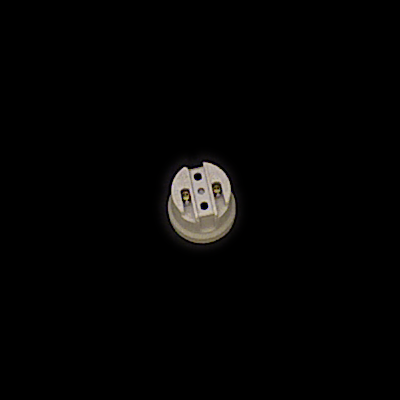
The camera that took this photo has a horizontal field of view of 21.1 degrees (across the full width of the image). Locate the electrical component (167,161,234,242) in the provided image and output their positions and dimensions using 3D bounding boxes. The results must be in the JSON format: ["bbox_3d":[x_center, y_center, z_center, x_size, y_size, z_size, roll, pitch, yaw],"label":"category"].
[{"bbox_3d":[0.000,0.000,0.633,0.040,0.040,0.046,0,-17,1],"label":"electrical component"}]
